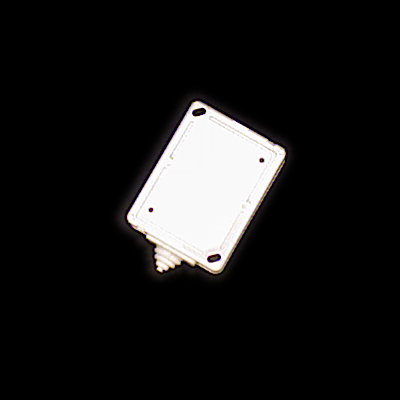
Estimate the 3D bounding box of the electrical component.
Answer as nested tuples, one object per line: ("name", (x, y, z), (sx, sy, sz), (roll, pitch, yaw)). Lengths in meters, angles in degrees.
("electrical component", (0.000, 0.000, 0.629), (0.062, 0.096, 0.061), (30, -5, 4))
